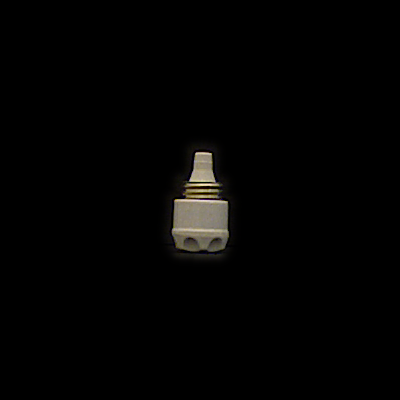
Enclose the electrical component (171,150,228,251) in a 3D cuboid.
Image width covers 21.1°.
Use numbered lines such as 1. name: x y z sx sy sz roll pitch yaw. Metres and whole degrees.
1. electrical component: 0.000 0.000 0.663 0.035 0.061 0.035 3 2 0
